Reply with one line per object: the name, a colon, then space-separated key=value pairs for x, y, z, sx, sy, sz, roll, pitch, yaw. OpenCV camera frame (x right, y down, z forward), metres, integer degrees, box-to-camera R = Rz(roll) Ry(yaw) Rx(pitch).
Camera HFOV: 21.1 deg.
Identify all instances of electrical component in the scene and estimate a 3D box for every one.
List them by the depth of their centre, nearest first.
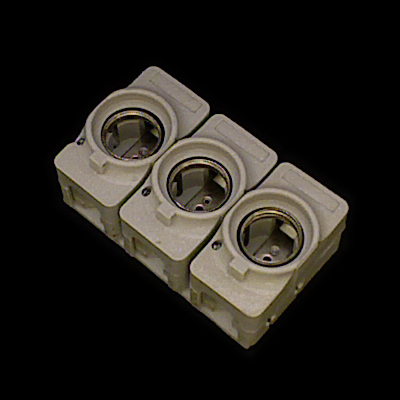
electrical component: x=0.000 y=0.000 z=0.631 sx=0.149 sy=0.089 sz=0.062 roll=37 pitch=-21 yaw=17
